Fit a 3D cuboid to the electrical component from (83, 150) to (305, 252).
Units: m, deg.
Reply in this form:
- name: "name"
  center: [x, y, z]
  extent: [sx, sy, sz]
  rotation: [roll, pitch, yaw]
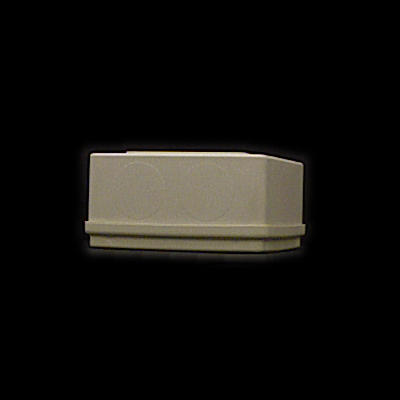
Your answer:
- name: "electrical component"
  center: [0.000, 0.000, 0.648]
  extent: [0.108, 0.056, 0.109]
  rotation: [1, 1, 18]
